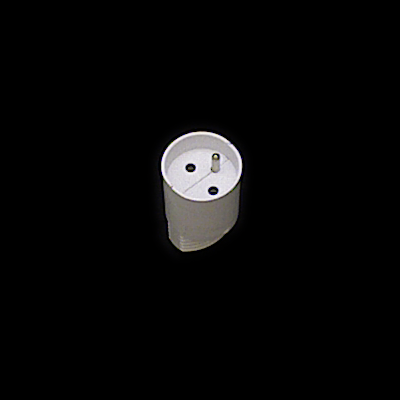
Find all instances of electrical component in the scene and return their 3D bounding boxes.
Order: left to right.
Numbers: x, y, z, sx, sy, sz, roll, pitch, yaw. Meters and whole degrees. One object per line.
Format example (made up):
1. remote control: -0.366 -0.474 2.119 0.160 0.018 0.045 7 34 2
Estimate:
1. electrical component: 0.000 0.000 0.617 0.043 0.043 0.081 0 -27 -1
